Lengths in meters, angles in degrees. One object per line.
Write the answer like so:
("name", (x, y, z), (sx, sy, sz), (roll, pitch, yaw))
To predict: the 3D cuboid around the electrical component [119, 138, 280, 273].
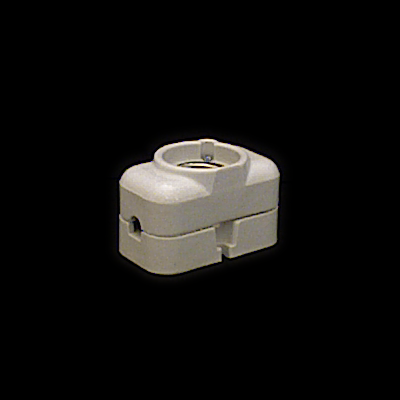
("electrical component", (0.000, 0.000, 0.647), (0.096, 0.060, 0.053), (-15, 27, -35))
